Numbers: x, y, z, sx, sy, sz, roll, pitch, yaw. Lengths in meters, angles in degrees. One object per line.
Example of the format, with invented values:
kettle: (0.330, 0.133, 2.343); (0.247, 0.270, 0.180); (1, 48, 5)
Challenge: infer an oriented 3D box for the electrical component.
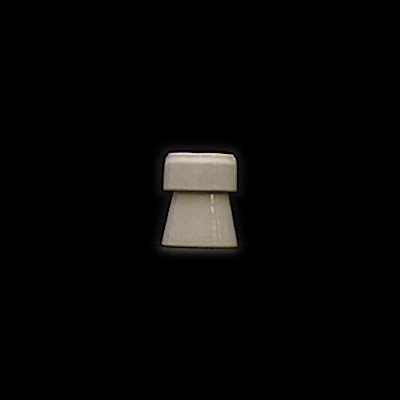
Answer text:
electrical component: (0.000, 0.000, 0.648); (0.045, 0.055, 0.044); (1, 1, 0)
